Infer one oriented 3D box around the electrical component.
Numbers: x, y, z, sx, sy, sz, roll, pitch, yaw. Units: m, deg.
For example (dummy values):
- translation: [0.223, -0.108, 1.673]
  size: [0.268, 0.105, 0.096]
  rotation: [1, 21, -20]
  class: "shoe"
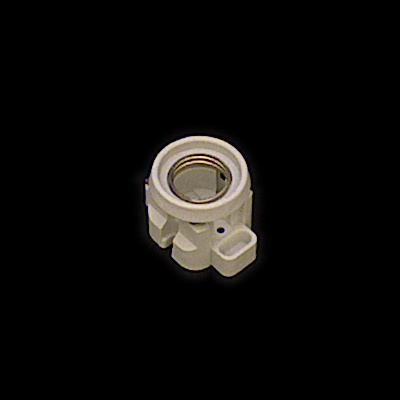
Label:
- translation: [0.000, 0.000, 0.630]
  size: [0.058, 0.057, 0.078]
  rotation: [-36, 61, -24]
  class: "electrical component"
